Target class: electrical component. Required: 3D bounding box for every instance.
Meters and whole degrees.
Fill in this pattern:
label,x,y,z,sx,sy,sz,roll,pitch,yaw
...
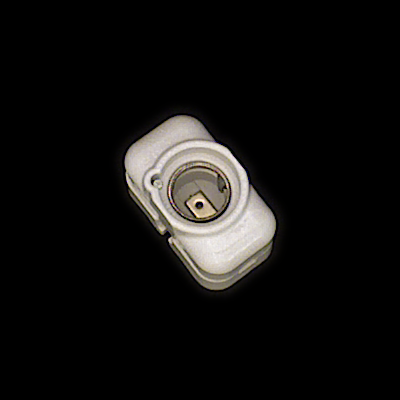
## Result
label,x,y,z,sx,sy,sz,roll,pitch,yaw
electrical component,0.000,0.000,0.633,0.054,0.095,0.059,-37,-13,-10
